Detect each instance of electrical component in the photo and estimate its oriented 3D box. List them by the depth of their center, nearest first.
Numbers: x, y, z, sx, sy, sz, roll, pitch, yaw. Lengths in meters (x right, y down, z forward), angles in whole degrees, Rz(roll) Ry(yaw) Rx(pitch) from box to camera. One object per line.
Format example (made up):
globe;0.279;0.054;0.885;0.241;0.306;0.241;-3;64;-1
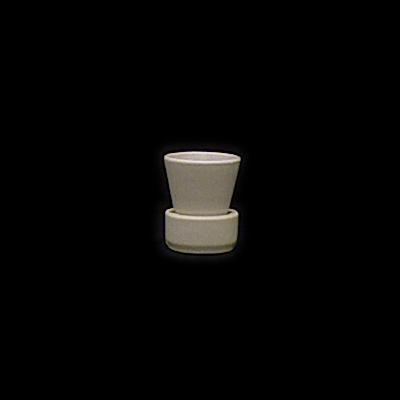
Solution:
electrical component;0.000;0.000;0.645;0.045;0.055;0.044;1;11;0
